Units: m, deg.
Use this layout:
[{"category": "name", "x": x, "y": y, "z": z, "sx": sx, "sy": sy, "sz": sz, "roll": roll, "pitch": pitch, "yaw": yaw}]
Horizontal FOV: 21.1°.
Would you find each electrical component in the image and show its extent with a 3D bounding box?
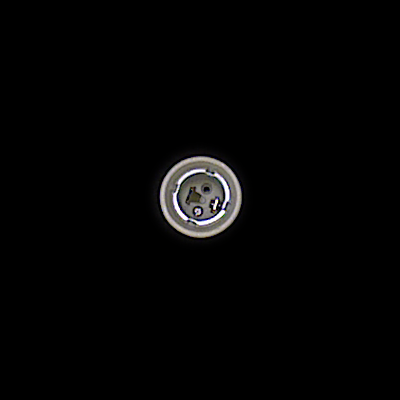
[{"category": "electrical component", "x": 0.000, "y": 0.000, "z": 0.625, "sx": 0.044, "sy": 0.044, "sz": 0.065, "roll": 0, "pitch": -5, "yaw": 1}]
